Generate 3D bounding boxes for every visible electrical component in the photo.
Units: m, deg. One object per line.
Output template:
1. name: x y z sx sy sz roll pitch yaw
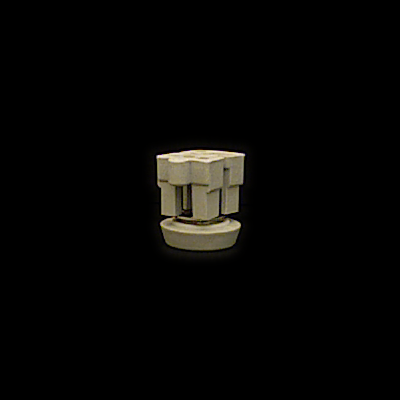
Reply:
1. electrical component: 0.000 0.000 0.650 0.048 0.056 0.067 7 12 30
